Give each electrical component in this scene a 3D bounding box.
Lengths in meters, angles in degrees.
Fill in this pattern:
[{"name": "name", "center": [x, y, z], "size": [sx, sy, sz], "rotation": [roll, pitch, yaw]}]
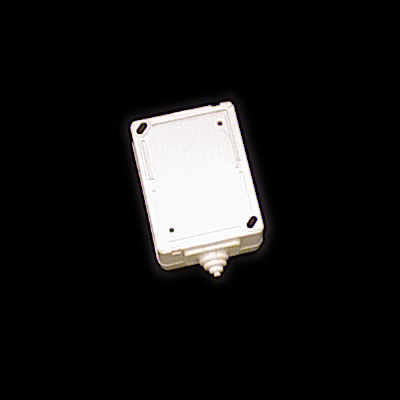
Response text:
[{"name": "electrical component", "center": [0.000, 0.000, 0.627], "size": [0.062, 0.097, 0.060], "rotation": [-12, -16, -4]}]
